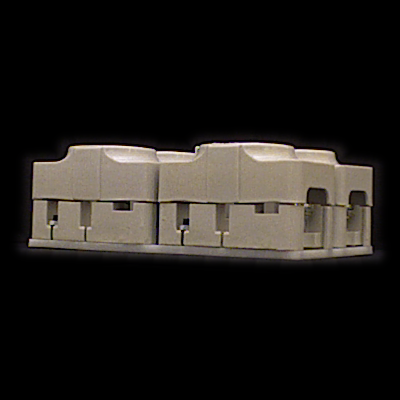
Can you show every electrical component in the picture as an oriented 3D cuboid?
[{"bbox_3d":[0.000,0.000,0.649,0.186,0.060,0.106,1,0,32],"label":"electrical component"}]
